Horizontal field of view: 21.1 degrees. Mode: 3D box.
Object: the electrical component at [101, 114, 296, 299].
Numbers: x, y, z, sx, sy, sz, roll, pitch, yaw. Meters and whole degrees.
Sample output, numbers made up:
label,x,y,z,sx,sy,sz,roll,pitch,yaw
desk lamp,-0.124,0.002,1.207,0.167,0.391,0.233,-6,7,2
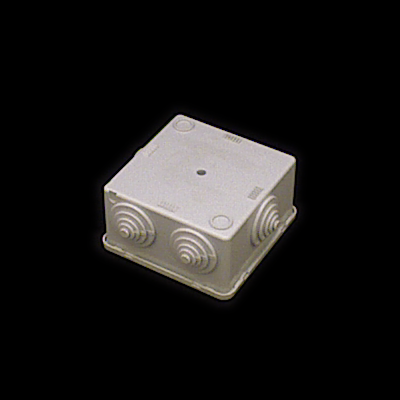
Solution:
label,x,y,z,sx,sy,sz,roll,pitch,yaw
electrical component,0.000,0.000,0.634,0.099,0.049,0.099,22,46,22
